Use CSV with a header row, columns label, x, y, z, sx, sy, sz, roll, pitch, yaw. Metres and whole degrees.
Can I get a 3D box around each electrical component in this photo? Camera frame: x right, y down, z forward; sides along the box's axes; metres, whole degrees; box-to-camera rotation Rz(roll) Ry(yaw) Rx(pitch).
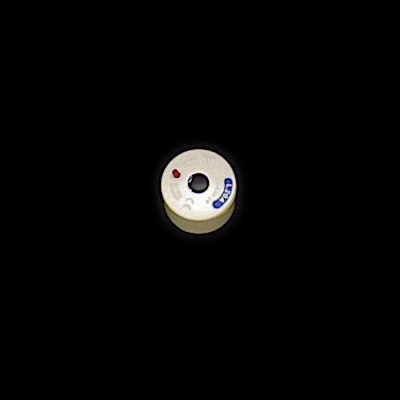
label,x,y,z,sx,sy,sz,roll,pitch,yaw
electrical component,0.000,0.000,0.617,0.040,0.040,0.078,0,-17,1
